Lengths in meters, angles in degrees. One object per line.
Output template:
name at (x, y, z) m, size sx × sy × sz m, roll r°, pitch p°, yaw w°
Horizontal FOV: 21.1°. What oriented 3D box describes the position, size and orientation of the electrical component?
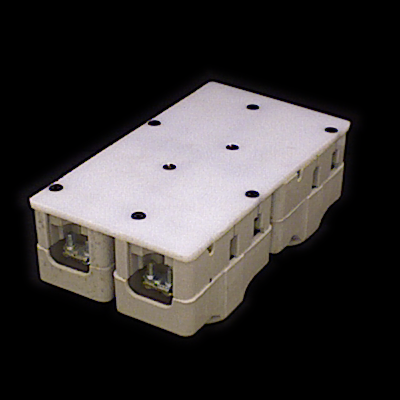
electrical component at (0.000, 0.000, 0.633) m, size 0.105 × 0.061 × 0.185 m, roll 19°, pitch 35°, yaw 27°
